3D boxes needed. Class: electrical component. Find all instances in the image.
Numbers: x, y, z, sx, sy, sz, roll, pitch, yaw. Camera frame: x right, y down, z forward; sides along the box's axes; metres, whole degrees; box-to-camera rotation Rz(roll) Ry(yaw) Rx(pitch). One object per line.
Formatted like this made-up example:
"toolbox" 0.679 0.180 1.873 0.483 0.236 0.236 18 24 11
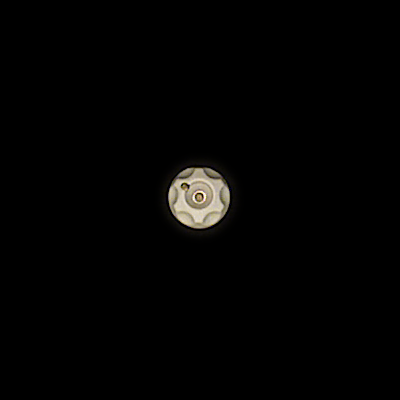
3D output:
"electrical component" 0.000 0.000 0.635 0.035 0.035 0.061 0 -6 1
